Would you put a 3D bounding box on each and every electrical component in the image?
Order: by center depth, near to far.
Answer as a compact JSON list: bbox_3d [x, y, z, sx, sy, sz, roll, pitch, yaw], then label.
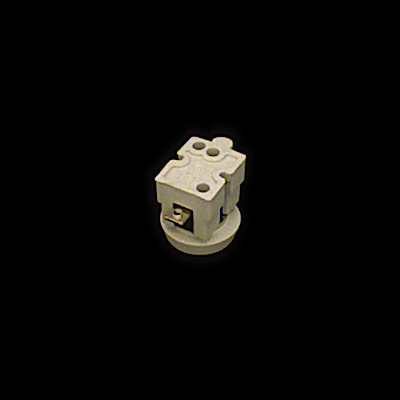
[{"bbox_3d":[0.000,0.000,0.641,0.048,0.056,0.066,22,48,20],"label":"electrical component"}]
